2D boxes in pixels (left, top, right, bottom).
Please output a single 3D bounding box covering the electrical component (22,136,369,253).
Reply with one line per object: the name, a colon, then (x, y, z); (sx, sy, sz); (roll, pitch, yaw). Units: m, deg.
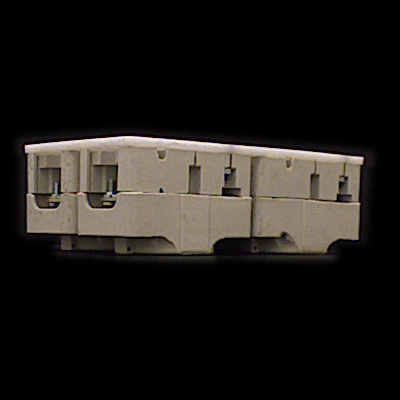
electrical component: (0.000, 0.000, 0.649); (0.187, 0.060, 0.105); (2, -1, -40)
